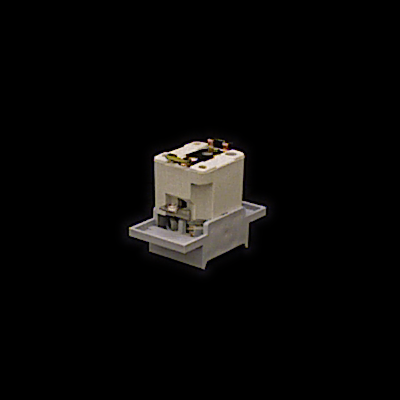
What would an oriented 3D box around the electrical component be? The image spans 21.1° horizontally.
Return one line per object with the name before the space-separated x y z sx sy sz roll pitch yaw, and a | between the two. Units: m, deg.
electrical component | 0.000 0.000 0.637 0.042 0.064 0.080 17 25 34
